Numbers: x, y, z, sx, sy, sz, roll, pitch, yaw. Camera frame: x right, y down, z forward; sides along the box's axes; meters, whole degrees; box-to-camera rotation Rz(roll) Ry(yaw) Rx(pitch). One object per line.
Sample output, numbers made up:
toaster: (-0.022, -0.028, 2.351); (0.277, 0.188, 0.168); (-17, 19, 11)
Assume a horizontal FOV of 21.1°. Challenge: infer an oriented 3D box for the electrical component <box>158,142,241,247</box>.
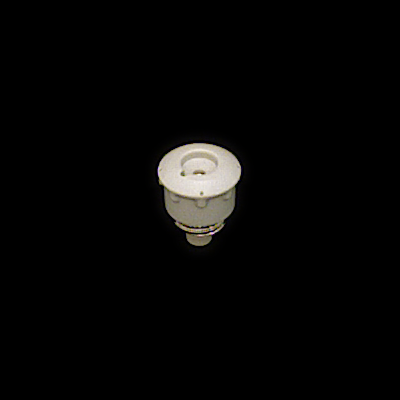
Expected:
electrical component: (0.000, 0.000, 0.636); (0.048, 0.062, 0.047); (0, 43, 0)
